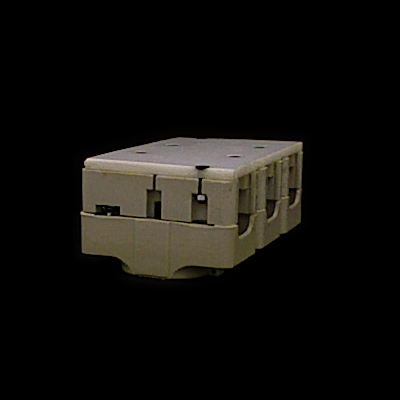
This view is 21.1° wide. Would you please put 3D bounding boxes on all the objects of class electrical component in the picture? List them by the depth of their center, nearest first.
[{"bbox_3d":[0.000,0.000,0.647,0.089,0.062,0.148,4,10,19],"label":"electrical component"}]
